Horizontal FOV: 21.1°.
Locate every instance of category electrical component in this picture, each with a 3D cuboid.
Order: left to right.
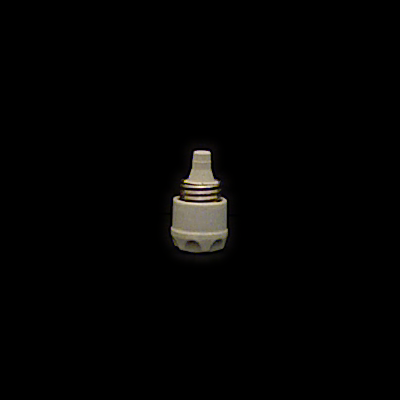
[{"bbox_3d":[0.000,0.000,0.659,0.035,0.062,0.035,2,13,0],"label":"electrical component"}]
